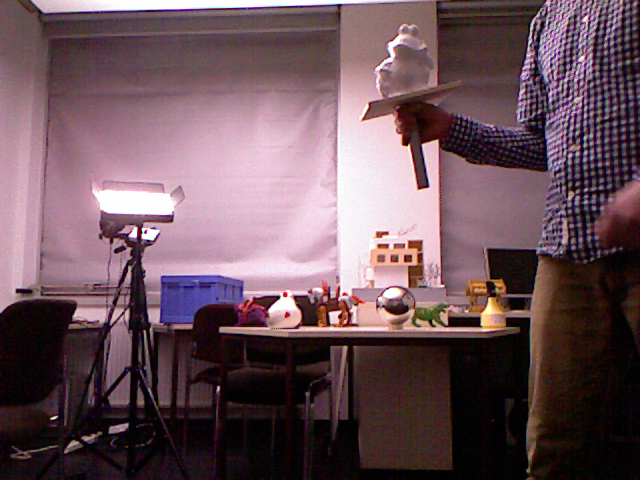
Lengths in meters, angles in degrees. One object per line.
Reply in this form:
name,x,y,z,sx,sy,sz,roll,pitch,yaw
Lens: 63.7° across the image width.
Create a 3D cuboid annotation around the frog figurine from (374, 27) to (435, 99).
frog figurine,0.191,-0.408,1.203,0.137,0.159,0.124,-14,9,12
